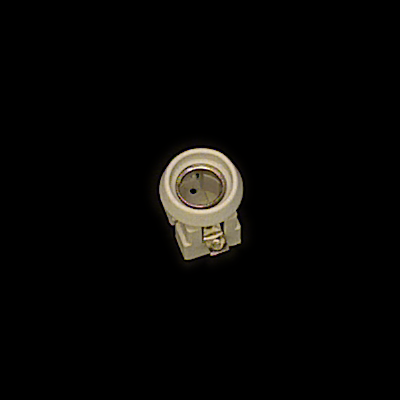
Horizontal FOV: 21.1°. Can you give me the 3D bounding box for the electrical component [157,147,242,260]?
[{"bbox_3d":[0.000,0.000,0.637,0.048,0.066,0.055,-21,-25,-7],"label":"electrical component"}]
